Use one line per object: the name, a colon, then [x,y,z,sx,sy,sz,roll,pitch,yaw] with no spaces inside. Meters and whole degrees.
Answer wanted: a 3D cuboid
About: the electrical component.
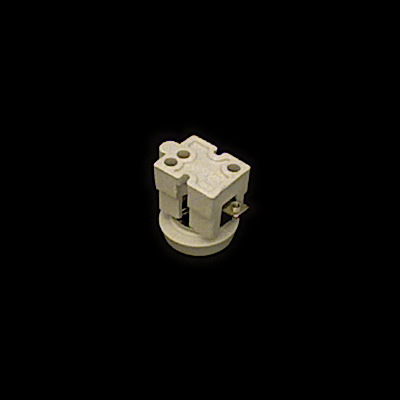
electrical component: [0.000,0.000,0.640,0.066,0.056,0.048,30,49,27]
